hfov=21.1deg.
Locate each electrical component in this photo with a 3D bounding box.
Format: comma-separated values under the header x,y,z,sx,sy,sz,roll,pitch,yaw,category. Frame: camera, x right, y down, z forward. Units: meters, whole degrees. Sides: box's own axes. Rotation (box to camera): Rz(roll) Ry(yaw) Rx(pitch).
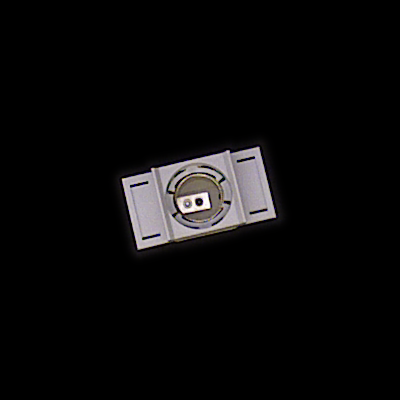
x,y,z,sx,sy,sz,roll,pitch,yaw,category
0.000,0.000,0.624,0.081,0.042,0.063,-13,-5,-2,electrical component
